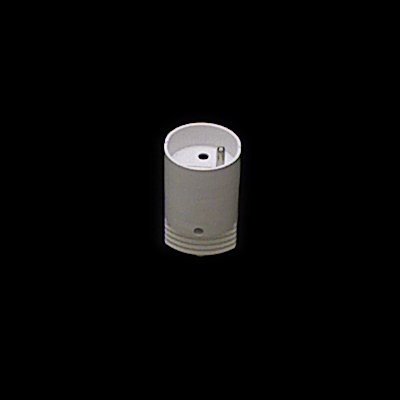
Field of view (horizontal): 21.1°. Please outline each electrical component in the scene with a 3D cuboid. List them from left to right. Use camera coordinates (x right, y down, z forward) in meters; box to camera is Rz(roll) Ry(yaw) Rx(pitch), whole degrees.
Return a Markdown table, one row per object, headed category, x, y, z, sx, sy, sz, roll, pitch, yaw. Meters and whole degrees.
| category | x | y | z | sx | sy | sz | roll | pitch | yaw |
| --- | --- | --- | --- | --- | --- | --- | --- | --- | --- |
| electrical component | 0.000 | 0.000 | 0.625 | 0.043 | 0.082 | 0.042 | 1 | 42 | -1 |
